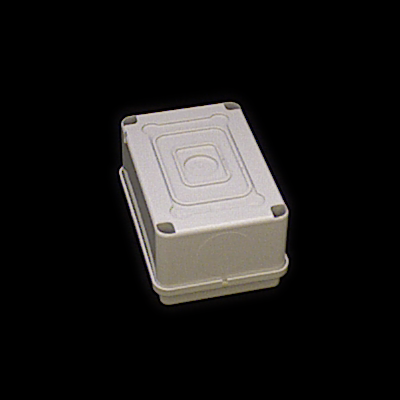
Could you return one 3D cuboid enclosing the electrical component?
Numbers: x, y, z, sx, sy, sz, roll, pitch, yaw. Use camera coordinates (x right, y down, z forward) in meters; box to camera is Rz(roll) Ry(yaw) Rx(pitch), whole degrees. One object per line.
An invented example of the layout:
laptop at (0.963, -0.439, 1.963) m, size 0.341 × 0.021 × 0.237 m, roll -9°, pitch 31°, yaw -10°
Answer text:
electrical component at (0.000, 0.000, 0.631) m, size 0.078 × 0.057 × 0.112 m, roll -9°, pitch 43°, yaw -11°
